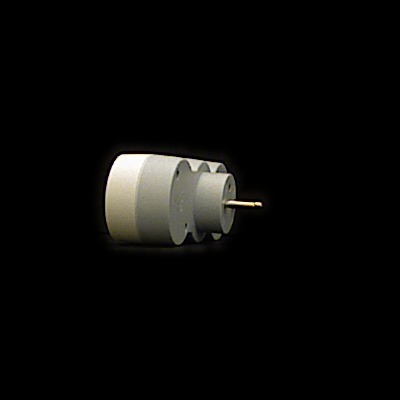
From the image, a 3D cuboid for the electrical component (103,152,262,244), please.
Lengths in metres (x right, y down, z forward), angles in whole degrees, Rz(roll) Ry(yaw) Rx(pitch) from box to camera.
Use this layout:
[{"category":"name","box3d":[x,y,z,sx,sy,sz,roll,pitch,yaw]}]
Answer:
[{"category":"electrical component","box3d":[0.000,0.000,0.654,0.073,0.052,0.138,3,1,15]}]
